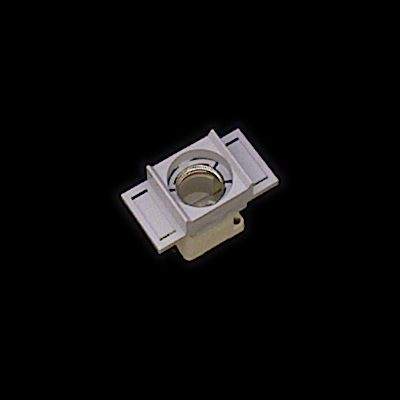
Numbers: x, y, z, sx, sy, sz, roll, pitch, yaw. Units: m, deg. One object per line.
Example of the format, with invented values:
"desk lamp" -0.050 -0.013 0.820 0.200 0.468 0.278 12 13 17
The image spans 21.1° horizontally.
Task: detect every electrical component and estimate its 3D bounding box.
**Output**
"electrical component" 0.000 0.000 0.625 0.081 0.042 0.064 -30 -24 -14
